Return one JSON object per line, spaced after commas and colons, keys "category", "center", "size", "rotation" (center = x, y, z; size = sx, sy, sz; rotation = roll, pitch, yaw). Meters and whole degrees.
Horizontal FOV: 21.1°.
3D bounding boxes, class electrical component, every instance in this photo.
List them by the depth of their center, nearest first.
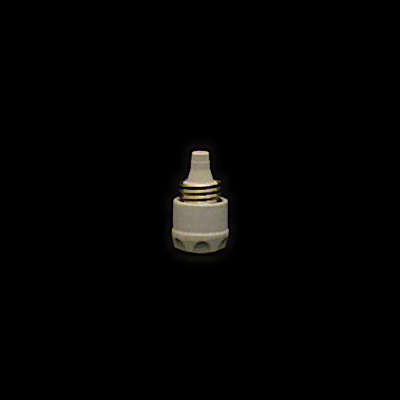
{"category": "electrical component", "center": [0.000, 0.000, 0.657], "size": [0.035, 0.062, 0.035], "rotation": [0, 13, 0]}
